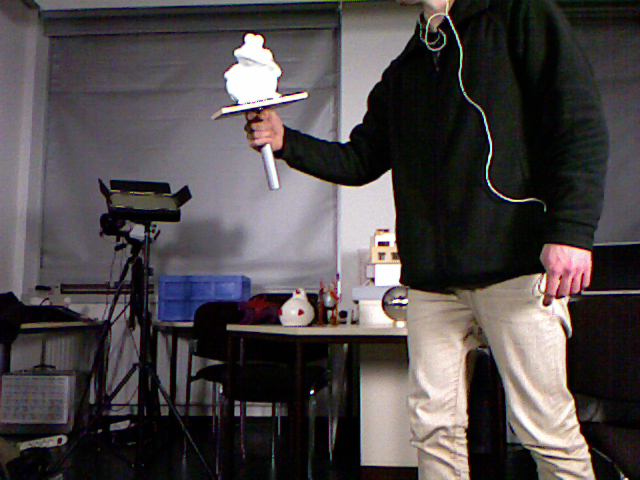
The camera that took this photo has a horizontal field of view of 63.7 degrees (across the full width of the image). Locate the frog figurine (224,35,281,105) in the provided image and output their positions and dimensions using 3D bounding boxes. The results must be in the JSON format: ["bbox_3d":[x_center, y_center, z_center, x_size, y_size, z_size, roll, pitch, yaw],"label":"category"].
[{"bbox_3d":[-0.171,-0.418,1.266,0.137,0.157,0.124,-9,17,6],"label":"frog figurine"}]
